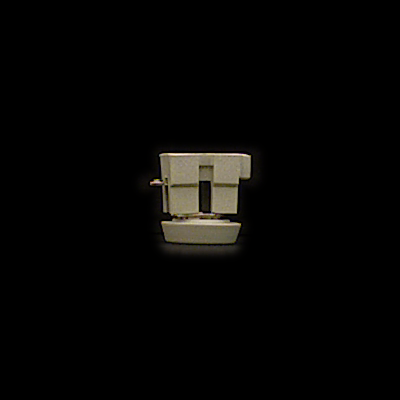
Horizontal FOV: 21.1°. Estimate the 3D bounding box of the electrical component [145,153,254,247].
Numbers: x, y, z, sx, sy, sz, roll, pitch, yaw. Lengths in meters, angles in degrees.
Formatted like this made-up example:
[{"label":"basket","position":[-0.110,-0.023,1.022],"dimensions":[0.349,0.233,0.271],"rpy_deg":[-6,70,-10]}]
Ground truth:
[{"label":"electrical component","position":[0.000,0.000,0.657],"dimensions":[0.067,0.055,0.048],"rpy_deg":[0,3,-12]}]
